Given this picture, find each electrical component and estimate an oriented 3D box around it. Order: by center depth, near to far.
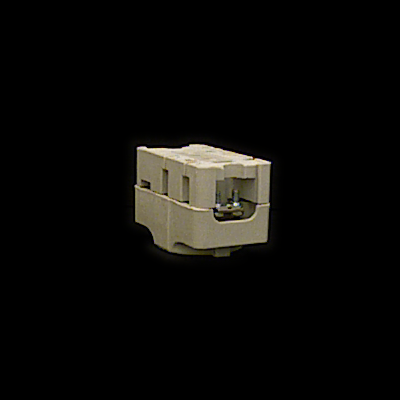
[{"bbox_3d":[0.000,0.000,0.652,0.050,0.056,0.088,-5,13,-28],"label":"electrical component"}]
